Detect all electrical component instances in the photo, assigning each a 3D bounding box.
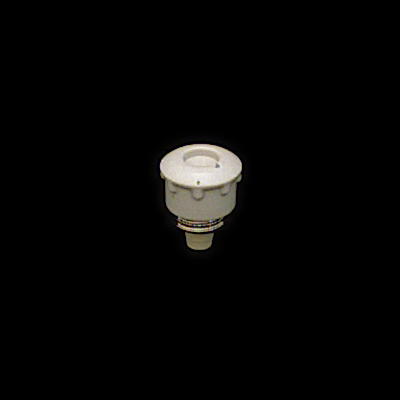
[{"bbox_3d":[0.000,0.000,0.643,0.048,0.063,0.047,1,32,0],"label":"electrical component"}]
